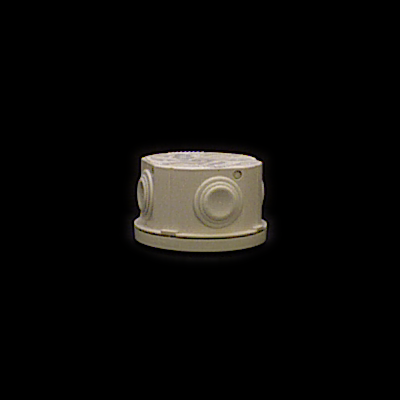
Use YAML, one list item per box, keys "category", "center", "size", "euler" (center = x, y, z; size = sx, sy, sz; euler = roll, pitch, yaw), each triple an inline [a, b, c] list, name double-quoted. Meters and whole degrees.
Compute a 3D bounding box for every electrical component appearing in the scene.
- category: "electrical component"
  center: [0.000, 0.000, 0.645]
  size: [0.080, 0.051, 0.079]
  euler: [1, 10, 0]
